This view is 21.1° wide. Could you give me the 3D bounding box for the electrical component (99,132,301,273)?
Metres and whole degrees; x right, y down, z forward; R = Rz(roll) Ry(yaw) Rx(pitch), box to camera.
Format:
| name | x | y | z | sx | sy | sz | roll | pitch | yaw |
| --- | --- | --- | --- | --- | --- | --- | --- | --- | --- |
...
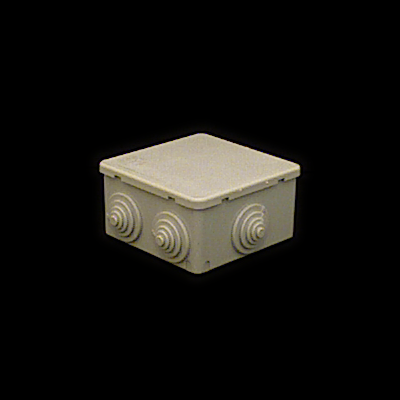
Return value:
| name | x | y | z | sx | sy | sz | roll | pitch | yaw |
| --- | --- | --- | --- | --- | --- | --- | --- | --- | --- |
| electrical component | 0.000 | 0.000 | 0.647 | 0.100 | 0.049 | 0.098 | -19 | 29 | -41 |
